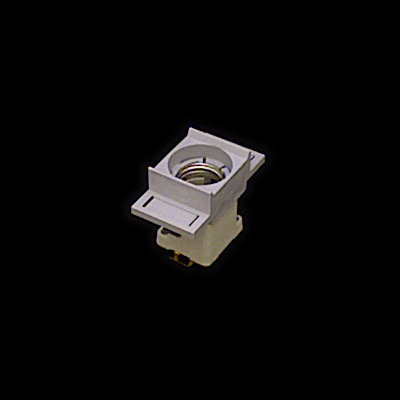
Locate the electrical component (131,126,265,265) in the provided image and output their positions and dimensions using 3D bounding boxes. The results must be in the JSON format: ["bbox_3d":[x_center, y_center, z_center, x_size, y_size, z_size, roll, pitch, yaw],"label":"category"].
[{"bbox_3d":[0.000,0.000,0.631,0.042,0.064,0.080,22,46,24],"label":"electrical component"}]
